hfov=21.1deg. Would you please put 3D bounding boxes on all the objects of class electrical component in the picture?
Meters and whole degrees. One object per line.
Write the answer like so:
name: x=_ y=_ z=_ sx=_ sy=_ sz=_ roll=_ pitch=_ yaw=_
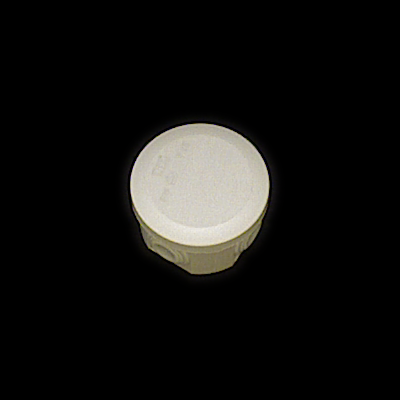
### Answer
electrical component: x=0.000 y=0.000 z=0.631 sx=0.080 sy=0.080 sz=0.050 roll=0 pitch=-27 yaw=-1
